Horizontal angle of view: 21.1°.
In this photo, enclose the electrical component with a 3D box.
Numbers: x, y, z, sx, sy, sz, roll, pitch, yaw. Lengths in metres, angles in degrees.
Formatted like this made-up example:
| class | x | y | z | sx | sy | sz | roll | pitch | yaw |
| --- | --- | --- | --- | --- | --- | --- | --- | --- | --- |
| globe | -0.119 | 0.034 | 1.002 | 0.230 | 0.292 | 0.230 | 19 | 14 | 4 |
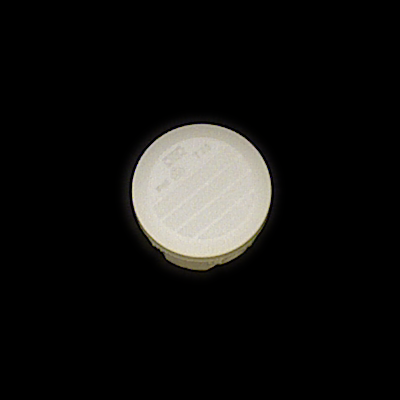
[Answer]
| class | x | y | z | sx | sy | sz | roll | pitch | yaw |
| --- | --- | --- | --- | --- | --- | --- | --- | --- | --- |
| electrical component | 0.000 | 0.000 | 0.630 | 0.080 | 0.080 | 0.050 | 0 | -17 | 0 |
